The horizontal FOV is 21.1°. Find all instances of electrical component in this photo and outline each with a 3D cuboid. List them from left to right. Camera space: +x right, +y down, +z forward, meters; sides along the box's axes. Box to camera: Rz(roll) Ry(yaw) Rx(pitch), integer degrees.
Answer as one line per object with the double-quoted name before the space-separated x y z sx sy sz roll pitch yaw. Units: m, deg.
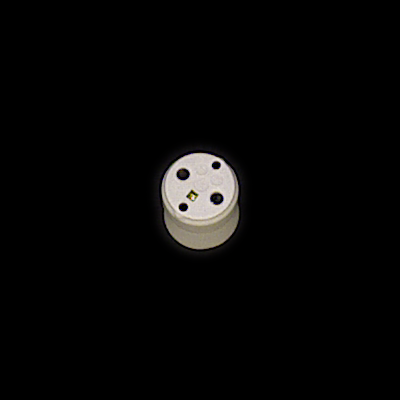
"electrical component" 0.000 0.000 0.629 0.045 0.045 0.055 0 -17 0
